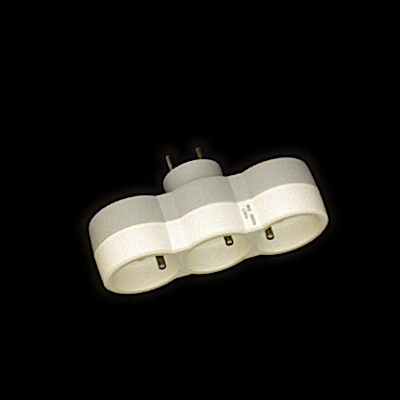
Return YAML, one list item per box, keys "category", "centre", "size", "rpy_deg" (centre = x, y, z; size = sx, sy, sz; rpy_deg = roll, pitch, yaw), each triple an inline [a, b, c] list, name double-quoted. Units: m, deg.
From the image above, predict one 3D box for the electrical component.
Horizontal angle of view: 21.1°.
- category: "electrical component"
  centre: [0.000, 0.000, 0.639]
  size: [0.138, 0.073, 0.052]
  rpy_deg: [-15, -27, -8]
